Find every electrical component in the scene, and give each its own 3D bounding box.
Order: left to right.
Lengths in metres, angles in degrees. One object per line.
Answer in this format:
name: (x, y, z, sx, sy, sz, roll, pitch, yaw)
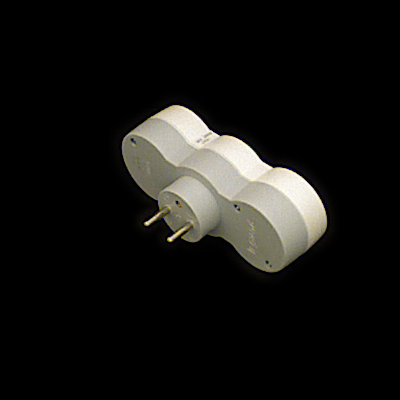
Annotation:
electrical component: (0.000, 0.000, 0.640, 0.136, 0.052, 0.074, 33, 53, 30)
